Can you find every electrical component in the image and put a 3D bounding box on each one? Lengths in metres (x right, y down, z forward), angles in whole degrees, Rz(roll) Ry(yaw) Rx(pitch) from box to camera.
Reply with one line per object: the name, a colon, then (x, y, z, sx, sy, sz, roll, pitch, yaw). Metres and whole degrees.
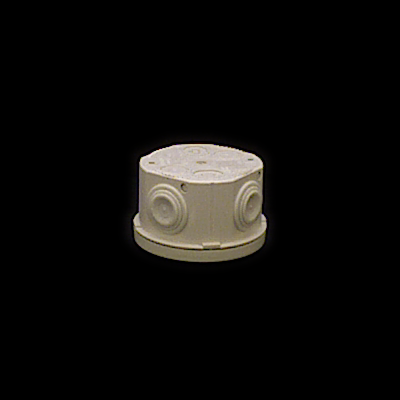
electrical component: (0.000, 0.000, 0.641, 0.080, 0.051, 0.079, 2, 21, 0)
